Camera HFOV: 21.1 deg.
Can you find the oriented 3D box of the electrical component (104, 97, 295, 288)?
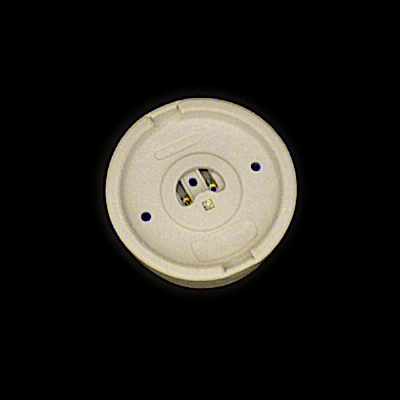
[{"bbox_3d":[0.000,0.000,0.633,0.108,0.108,0.060,0,-17,0],"label":"electrical component"}]
